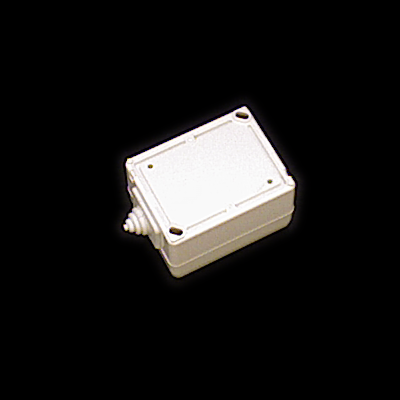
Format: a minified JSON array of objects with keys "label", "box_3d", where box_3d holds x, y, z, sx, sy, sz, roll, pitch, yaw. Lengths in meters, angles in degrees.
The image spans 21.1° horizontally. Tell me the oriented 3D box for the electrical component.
[{"label":"electrical component","box_3d":[0.000,0.000,0.628,0.096,0.061,0.061,-25,-24,-12]}]
